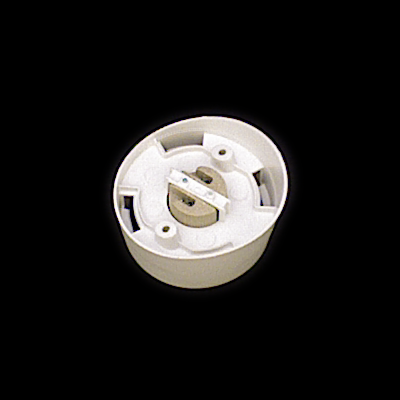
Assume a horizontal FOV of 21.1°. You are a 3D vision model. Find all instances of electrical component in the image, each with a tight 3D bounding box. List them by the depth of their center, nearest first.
[{"bbox_3d":[0.000,0.000,0.625,0.099,0.099,0.064,0,-28,-1],"label":"electrical component"}]
